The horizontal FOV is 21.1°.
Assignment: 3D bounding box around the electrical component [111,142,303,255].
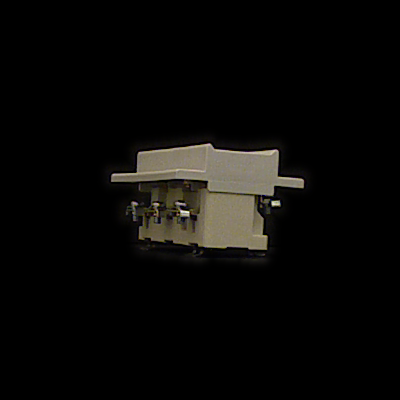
[{"bbox_3d":[0.000,0.000,0.664,0.079,0.063,0.121,2,0,-22],"label":"electrical component"}]
